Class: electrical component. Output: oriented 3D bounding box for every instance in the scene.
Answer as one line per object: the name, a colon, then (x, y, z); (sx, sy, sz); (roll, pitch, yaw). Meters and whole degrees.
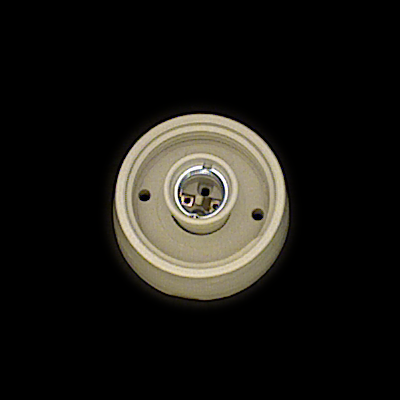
electrical component: (0.000, 0.000, 0.633); (0.108, 0.108, 0.060); (0, -16, 0)
